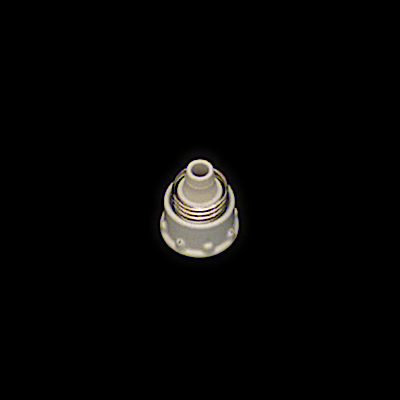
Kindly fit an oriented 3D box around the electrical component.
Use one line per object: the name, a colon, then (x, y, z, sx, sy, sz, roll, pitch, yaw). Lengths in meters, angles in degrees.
electrical component: (0.000, 0.000, 0.634, 0.048, 0.048, 0.062, 0, -36, -1)
